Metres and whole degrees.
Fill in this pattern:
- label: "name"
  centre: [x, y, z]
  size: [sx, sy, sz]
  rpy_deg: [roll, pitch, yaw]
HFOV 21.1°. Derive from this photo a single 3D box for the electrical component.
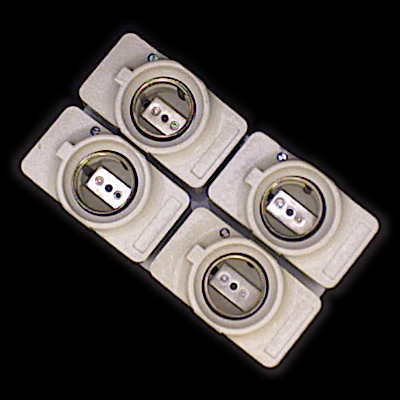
- label: "electrical component"
  centre: [0.000, 0.000, 0.626]
  size: [0.186, 0.106, 0.060]
  rpy_deg: [38, -5, 4]
